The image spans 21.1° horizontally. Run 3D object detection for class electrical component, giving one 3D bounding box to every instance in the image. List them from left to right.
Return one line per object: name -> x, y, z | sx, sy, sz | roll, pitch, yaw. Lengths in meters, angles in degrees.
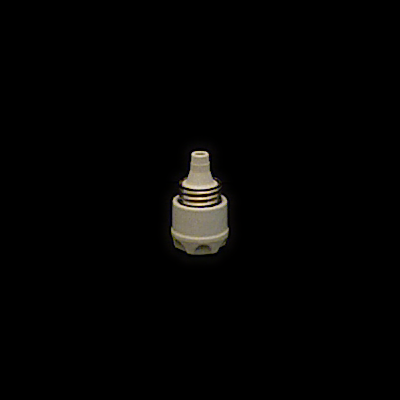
electrical component -> 0.000, 0.000, 0.650 | 0.035, 0.062, 0.035 | 1, 20, 0
